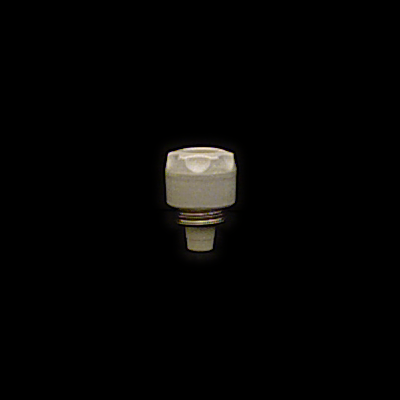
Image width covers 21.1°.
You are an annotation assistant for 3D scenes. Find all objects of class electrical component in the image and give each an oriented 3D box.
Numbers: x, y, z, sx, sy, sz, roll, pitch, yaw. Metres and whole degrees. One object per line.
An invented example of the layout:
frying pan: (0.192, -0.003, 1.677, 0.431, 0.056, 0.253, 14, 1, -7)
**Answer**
electrical component: (0.000, 0.000, 0.650, 0.043, 0.062, 0.043, 0, 12, 0)
